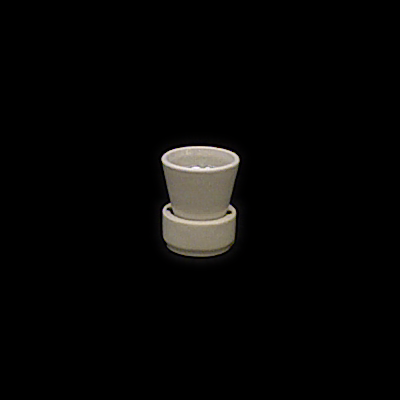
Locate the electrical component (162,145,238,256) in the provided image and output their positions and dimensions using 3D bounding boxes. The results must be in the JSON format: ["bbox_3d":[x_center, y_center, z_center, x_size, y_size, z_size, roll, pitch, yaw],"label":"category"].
[{"bbox_3d":[0.000,0.000,0.638,0.045,0.056,0.044,1,22,0],"label":"electrical component"}]
